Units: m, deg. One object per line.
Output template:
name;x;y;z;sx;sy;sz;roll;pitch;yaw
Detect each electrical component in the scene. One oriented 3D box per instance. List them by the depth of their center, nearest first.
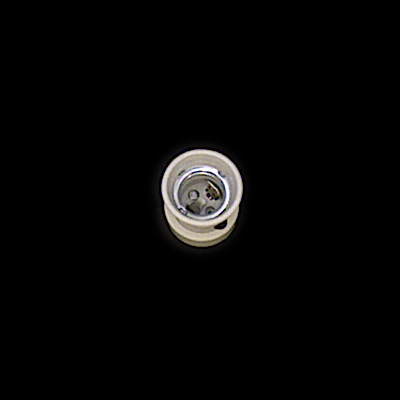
electrical component;0.000;0.000;0.628;0.045;0.045;0.055;0;-17;0
